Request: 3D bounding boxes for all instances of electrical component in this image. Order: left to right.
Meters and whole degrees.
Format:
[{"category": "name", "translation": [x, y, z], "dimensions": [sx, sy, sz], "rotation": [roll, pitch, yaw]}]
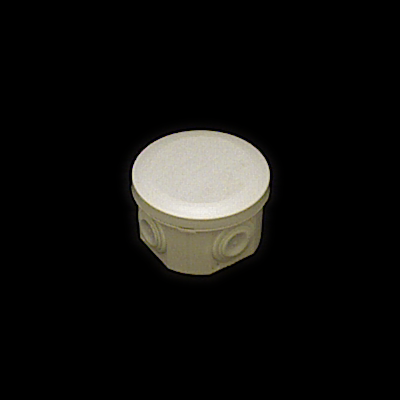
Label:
[{"category": "electrical component", "translation": [0.000, 0.000, 0.631], "dimensions": [0.080, 0.051, 0.080], "rotation": [0, 42, 0]}]
